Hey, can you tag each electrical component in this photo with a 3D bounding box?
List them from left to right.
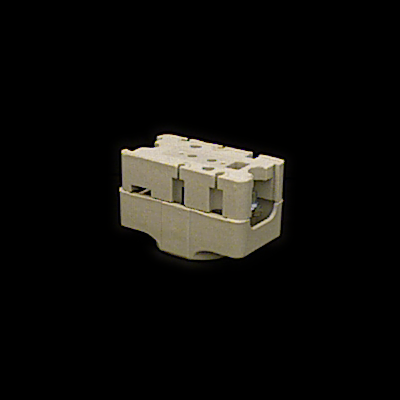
[{"bbox_3d":[0.000,0.000,0.647,0.088,0.056,0.050,16,26,31],"label":"electrical component"}]
